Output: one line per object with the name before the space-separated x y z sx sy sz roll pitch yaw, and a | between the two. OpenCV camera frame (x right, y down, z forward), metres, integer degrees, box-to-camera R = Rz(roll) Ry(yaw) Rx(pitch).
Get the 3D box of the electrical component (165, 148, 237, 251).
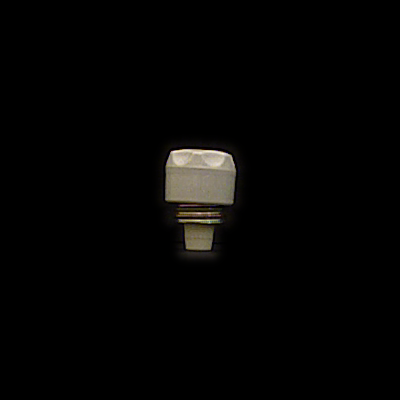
electrical component | 0.000 0.000 0.656 0.043 0.062 0.043 2 2 0
